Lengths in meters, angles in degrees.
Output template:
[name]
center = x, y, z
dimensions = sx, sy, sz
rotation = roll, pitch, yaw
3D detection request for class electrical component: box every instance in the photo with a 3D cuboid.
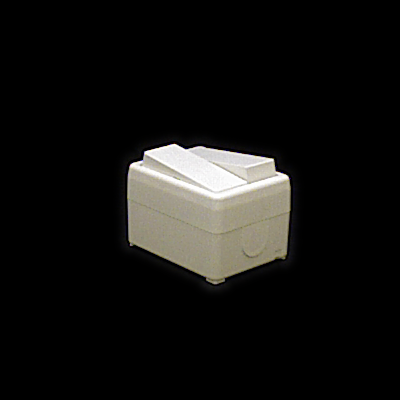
[electrical component]
center = 0.000, 0.000, 0.641
dimensions = 0.061, 0.061, 0.095
rotation = -17, 27, -40
